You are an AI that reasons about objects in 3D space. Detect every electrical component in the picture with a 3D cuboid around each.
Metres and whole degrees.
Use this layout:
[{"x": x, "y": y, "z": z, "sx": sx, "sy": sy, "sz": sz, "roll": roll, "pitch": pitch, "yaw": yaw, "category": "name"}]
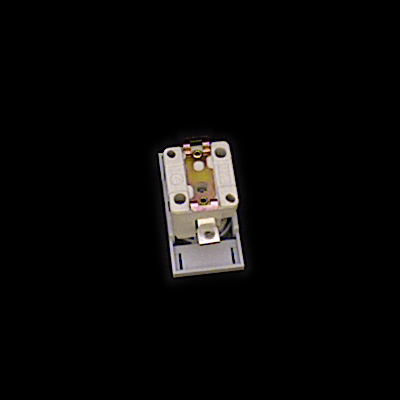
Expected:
[{"x": 0.000, "y": 0.000, "z": 0.625, "sx": 0.042, "sy": 0.081, "sz": 0.063, "roll": -7, "pitch": -27, "yaw": -3, "category": "electrical component"}]
